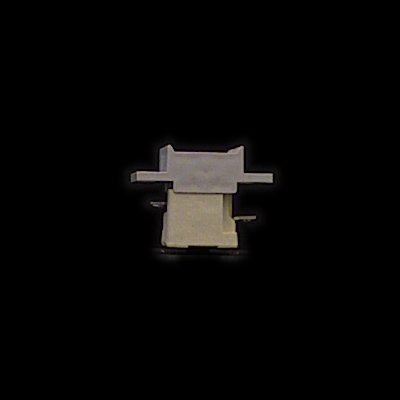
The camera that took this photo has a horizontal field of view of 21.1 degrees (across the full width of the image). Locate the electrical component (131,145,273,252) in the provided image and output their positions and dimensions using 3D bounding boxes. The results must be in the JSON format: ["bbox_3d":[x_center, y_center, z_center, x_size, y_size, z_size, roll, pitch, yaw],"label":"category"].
[{"bbox_3d":[0.000,0.000,0.650,0.081,0.064,0.042,1,0,-8],"label":"electrical component"}]
